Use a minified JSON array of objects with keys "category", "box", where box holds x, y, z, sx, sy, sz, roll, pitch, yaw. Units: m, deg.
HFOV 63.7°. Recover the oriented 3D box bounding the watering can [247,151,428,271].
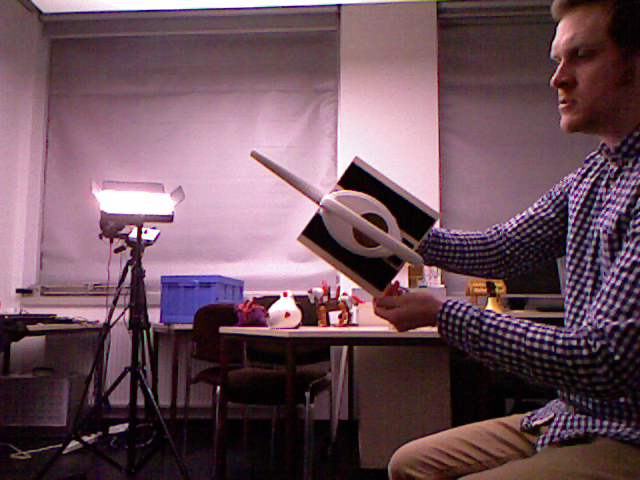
[{"category":"watering can","box":[0.041,-0.056,0.922,0.350,0.104,0.226,34,7,6]}]
